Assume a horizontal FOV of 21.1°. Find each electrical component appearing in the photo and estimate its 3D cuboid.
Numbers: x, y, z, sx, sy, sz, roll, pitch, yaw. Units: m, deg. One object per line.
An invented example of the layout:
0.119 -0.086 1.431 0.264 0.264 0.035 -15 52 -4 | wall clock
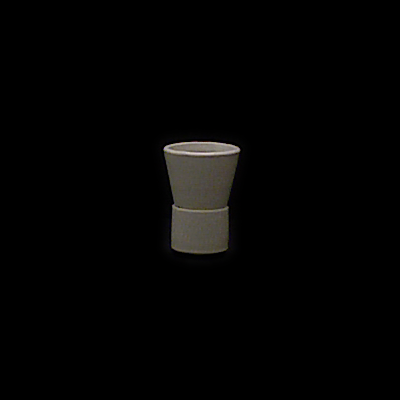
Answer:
0.000 0.000 0.642 0.044 0.066 0.044 1 12 0 | electrical component
